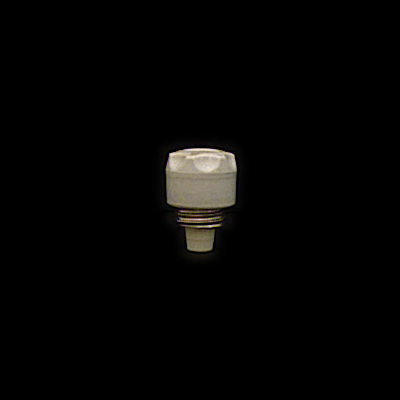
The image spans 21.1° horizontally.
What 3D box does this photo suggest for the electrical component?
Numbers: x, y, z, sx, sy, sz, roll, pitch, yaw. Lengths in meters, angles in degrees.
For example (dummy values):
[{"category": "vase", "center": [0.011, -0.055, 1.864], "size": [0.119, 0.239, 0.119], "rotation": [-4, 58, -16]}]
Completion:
[{"category": "electrical component", "center": [0.000, 0.000, 0.652], "size": [0.043, 0.062, 0.043], "rotation": [1, 11, 0]}]
